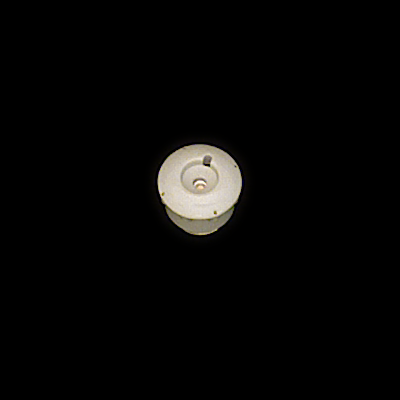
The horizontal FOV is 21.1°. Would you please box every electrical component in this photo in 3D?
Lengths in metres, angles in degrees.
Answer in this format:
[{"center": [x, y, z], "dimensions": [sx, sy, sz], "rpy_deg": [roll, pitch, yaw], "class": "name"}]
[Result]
[{"center": [0.000, 0.000, 0.634], "dimensions": [0.048, 0.048, 0.062], "rpy_deg": [0, -27, 0], "class": "electrical component"}]
